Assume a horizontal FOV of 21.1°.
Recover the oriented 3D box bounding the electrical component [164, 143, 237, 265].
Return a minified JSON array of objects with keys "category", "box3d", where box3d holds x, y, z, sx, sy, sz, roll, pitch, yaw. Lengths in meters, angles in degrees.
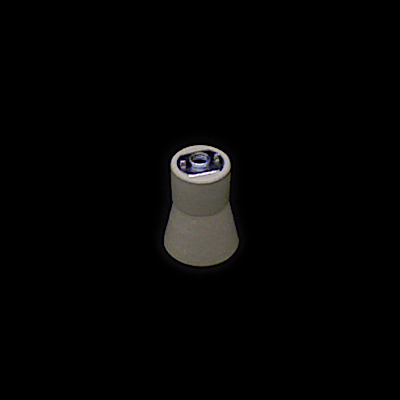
[{"category":"electrical component","box3d":[0.000,0.000,0.631,0.044,0.066,0.044,0,41,0]}]
